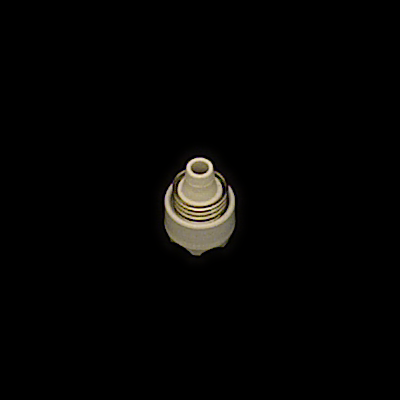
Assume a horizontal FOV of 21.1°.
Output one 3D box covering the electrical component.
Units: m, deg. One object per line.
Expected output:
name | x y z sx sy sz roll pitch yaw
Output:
electrical component | 0.000 0.000 0.636 0.043 0.043 0.062 0 -38 -1
